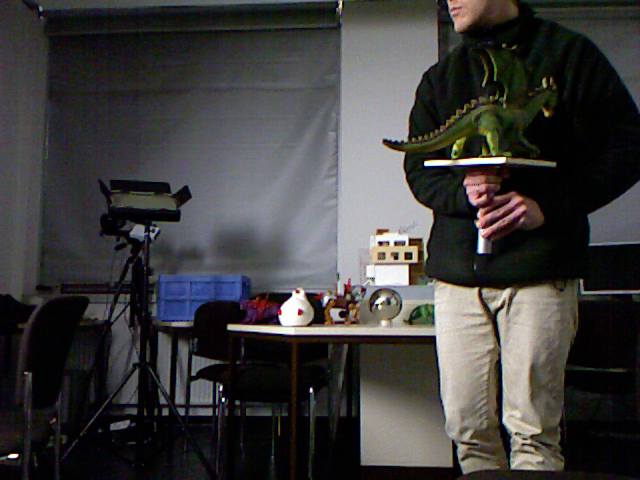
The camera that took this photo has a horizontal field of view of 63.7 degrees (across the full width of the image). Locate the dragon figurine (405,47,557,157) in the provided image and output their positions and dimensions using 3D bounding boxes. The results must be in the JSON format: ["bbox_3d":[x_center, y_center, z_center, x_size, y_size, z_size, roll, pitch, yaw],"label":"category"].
[{"bbox_3d":[0.380,-0.304,1.151,0.412,0.241,0.123,-1,12,-25],"label":"dragon figurine"}]
